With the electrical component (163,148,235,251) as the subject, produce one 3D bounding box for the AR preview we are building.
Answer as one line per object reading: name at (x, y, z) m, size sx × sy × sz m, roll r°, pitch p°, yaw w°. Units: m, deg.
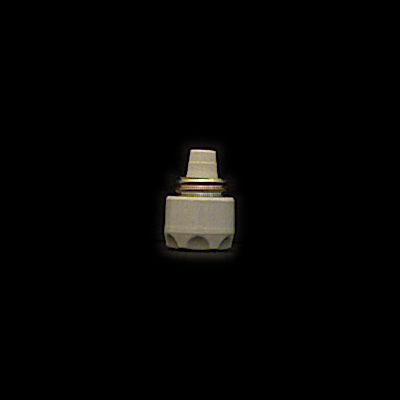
electrical component at (0.000, 0.000, 0.656) m, size 0.043 × 0.062 × 0.043 m, roll 3°, pitch 2°, yaw 0°
